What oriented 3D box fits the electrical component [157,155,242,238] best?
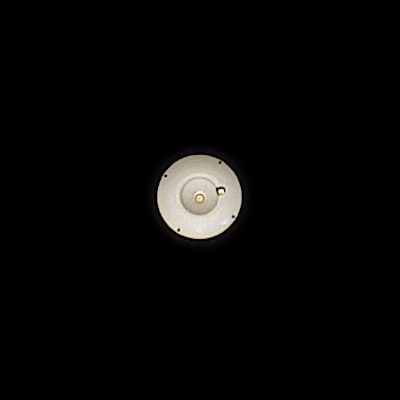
[{"bbox_3d":[0.000,0.000,0.634,0.048,0.048,0.062,0,-5,1],"label":"electrical component"}]
